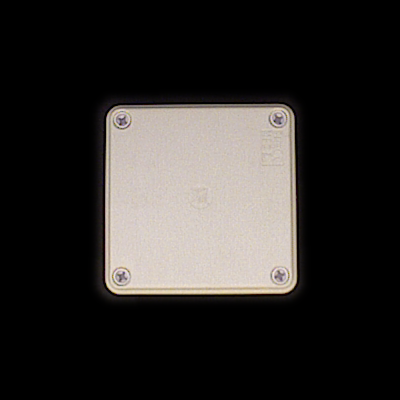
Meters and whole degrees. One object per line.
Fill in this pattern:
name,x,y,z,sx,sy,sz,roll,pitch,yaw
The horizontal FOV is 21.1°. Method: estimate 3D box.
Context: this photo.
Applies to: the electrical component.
electrical component,0.000,0.000,0.631,0.109,0.109,0.056,0,-7,1
